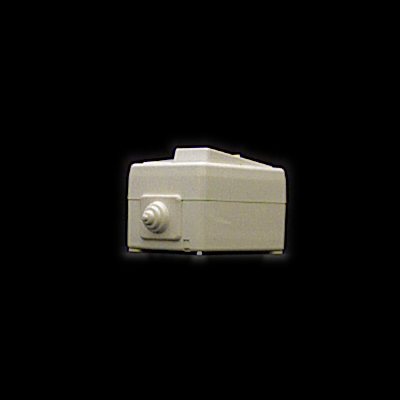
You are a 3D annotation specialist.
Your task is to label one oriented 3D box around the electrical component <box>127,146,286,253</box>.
[{"bbox_3d":[0.000,0.000,0.648,0.061,0.061,0.096,2,0,42],"label":"electrical component"}]
